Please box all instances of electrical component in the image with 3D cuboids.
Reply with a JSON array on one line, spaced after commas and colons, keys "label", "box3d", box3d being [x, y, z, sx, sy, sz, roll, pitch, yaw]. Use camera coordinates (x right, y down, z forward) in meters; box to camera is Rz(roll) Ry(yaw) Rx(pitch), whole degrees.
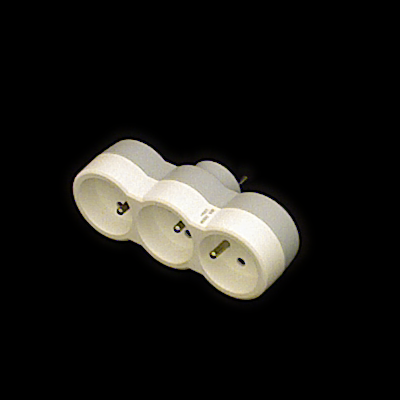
[{"label": "electrical component", "box3d": [0.000, 0.000, 0.642, 0.137, 0.053, 0.073, 24, 46, 23]}]
